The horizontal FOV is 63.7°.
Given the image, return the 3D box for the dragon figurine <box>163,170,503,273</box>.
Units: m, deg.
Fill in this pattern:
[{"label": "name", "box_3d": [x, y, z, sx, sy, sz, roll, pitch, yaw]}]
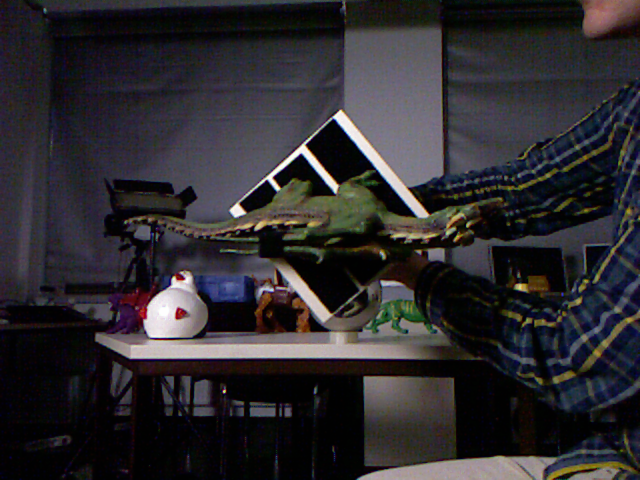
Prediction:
[{"label": "dragon figurine", "box_3d": [-0.015, -0.012, 0.569, 0.412, 0.122, 0.245, -6, 6, 6]}]
